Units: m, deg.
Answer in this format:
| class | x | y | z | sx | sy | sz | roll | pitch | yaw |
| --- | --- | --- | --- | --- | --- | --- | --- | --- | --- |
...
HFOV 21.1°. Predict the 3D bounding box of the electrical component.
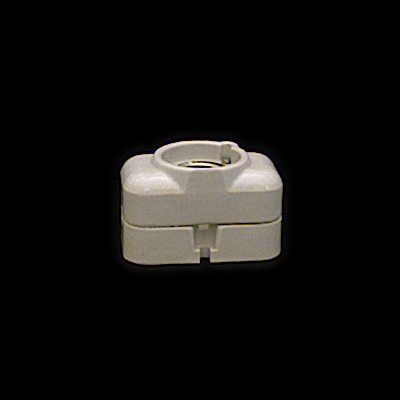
| class | x | y | z | sx | sy | sz | roll | pitch | yaw |
| --- | --- | --- | --- | --- | --- | --- | --- | --- | --- |
| electrical component | 0.000 | 0.000 | 0.647 | 0.095 | 0.060 | 0.053 | -2 | 22 | -8 |
